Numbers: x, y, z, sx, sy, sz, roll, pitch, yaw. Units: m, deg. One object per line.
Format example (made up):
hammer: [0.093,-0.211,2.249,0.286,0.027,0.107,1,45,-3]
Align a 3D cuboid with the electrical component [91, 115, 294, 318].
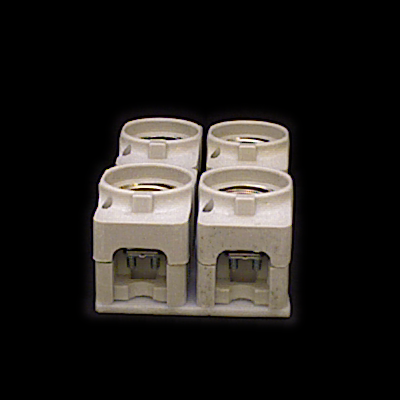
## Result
electrical component: [0.000,0.000,0.638,0.105,0.061,0.184,2,21,2]
